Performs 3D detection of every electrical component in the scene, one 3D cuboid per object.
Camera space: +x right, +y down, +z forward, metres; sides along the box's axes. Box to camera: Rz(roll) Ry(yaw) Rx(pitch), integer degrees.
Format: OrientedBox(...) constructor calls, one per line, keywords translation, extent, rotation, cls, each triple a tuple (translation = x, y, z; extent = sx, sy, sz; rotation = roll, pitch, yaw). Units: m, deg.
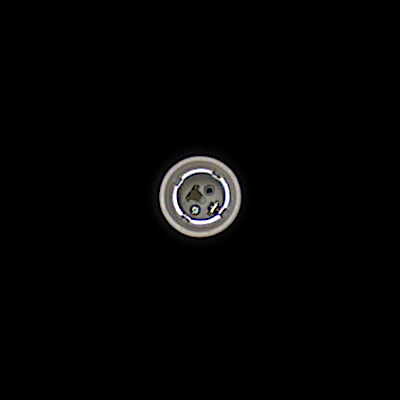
OrientedBox(translation=(0.000, 0.000, 0.625), extent=(0.044, 0.044, 0.065), rotation=(0, -5, 1), cls="electrical component")
